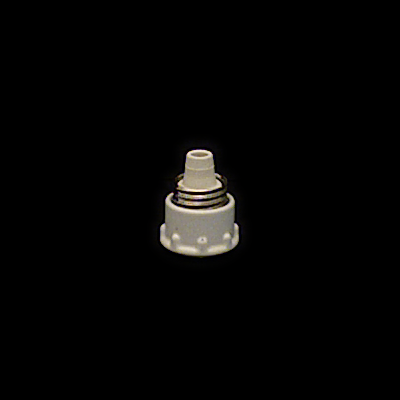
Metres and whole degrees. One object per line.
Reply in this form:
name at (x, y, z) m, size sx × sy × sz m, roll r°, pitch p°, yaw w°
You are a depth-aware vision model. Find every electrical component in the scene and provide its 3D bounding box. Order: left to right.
electrical component at (0.000, 0.000, 0.644) m, size 0.048 × 0.063 × 0.047 m, roll 0°, pitch 23°, yaw 0°
